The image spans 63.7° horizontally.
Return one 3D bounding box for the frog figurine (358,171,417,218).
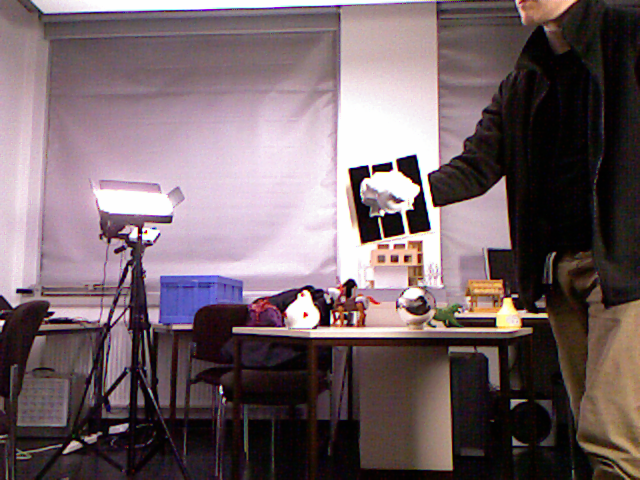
[{"bbox_3d":[0.158,-0.115,1.202,0.137,0.124,0.158,10,-11,7],"label":"frog figurine"}]
